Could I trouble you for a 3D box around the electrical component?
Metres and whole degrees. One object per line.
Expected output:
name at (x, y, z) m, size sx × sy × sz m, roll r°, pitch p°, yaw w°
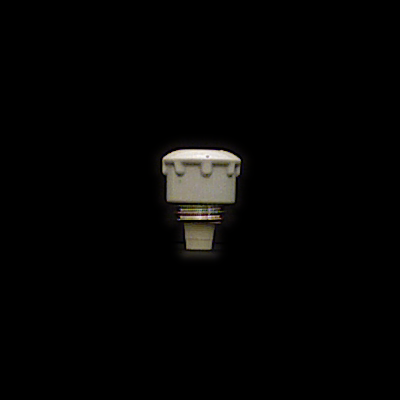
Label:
electrical component at (0.000, 0.000, 0.659) m, size 0.048 × 0.062 × 0.048 m, roll 1°, pitch 2°, yaw 0°
